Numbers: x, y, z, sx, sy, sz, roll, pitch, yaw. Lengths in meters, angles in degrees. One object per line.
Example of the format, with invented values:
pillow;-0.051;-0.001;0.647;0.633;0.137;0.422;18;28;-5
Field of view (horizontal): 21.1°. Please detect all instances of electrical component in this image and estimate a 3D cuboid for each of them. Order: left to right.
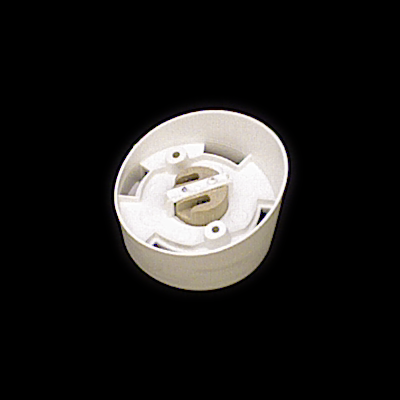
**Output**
electrical component;0.000;0.000;0.626;0.099;0.098;0.064;0;-38;-1
